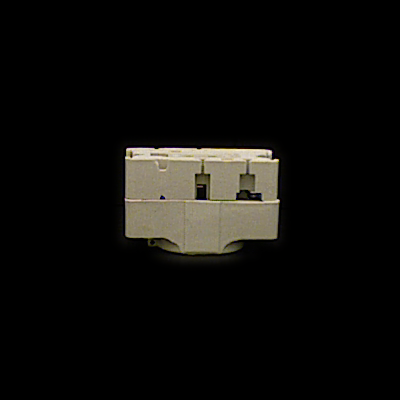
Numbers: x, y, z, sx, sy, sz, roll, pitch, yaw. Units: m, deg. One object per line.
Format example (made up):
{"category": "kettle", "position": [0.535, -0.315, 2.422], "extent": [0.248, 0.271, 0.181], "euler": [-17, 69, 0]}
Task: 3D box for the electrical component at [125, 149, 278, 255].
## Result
{"category": "electrical component", "position": [0.000, 0.000, 0.650], "extent": [0.090, 0.056, 0.049], "euler": [0, 12, -4]}
